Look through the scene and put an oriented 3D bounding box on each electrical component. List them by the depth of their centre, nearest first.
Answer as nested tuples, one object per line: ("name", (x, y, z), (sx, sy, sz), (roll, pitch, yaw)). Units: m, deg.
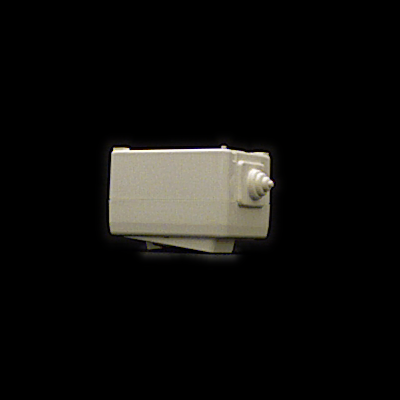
("electrical component", (0.000, 0.000, 0.648), (0.096, 0.061, 0.061), (1, 0, 30))
